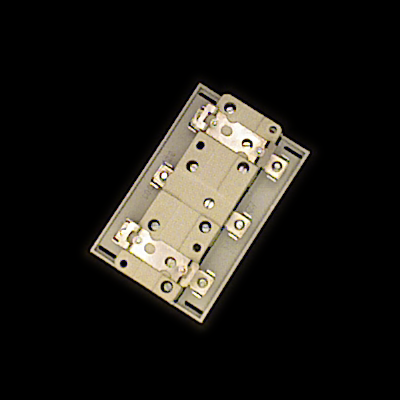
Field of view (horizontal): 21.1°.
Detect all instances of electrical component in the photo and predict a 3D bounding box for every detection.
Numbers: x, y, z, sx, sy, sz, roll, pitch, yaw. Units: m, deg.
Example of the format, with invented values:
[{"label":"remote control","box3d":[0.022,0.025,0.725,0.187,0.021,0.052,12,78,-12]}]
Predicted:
[{"label":"electrical component","box3d":[0.000,0.000,0.634,0.078,0.122,0.063,32,-5,4]}]
